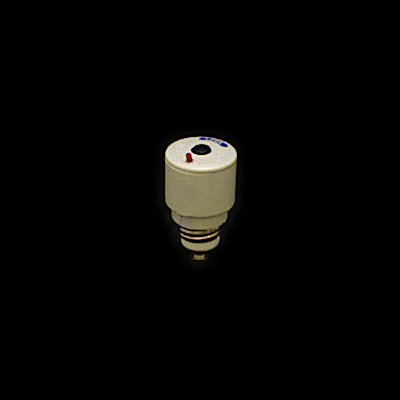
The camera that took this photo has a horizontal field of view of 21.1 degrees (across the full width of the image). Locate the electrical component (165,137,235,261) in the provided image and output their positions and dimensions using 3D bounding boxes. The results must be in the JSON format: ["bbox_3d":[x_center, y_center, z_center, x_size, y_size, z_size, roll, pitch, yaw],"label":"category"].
[{"bbox_3d":[0.000,0.000,0.628,0.040,0.079,0.039,1,32,0],"label":"electrical component"}]
